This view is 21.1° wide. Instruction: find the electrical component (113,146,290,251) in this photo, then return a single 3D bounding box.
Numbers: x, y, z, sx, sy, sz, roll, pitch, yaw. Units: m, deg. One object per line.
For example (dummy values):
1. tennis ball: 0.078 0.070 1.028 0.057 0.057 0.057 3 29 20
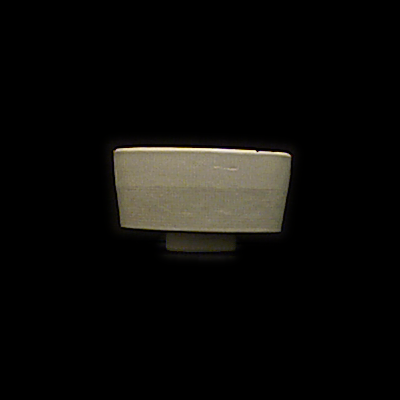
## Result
1. electrical component: 0.000 0.000 0.656 0.108 0.060 0.108 2 1 1
